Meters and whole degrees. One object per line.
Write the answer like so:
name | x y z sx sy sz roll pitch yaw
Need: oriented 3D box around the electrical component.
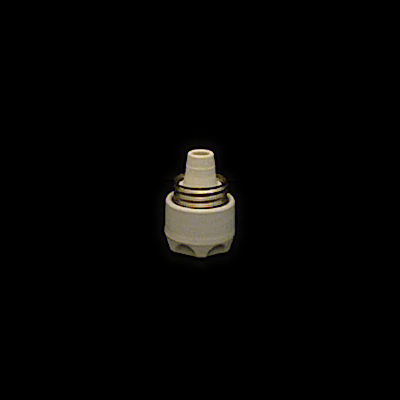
electrical component | 0.000 0.000 0.647 0.043 0.063 0.043 1 21 0
